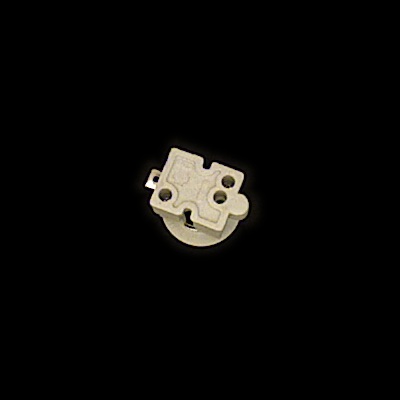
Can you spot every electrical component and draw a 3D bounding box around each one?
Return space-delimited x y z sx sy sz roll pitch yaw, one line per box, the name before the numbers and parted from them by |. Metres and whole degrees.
electrical component | 0.000 0.000 0.638 0.066 0.048 0.055 21 -14 7
